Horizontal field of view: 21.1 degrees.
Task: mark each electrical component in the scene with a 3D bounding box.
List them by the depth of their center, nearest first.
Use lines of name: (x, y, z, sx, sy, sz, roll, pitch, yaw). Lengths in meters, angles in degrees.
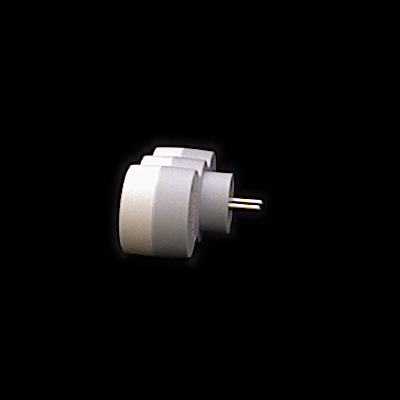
electrical component: (0.000, 0.000, 0.648, 0.073, 0.052, 0.137, 4, 10, 6)
